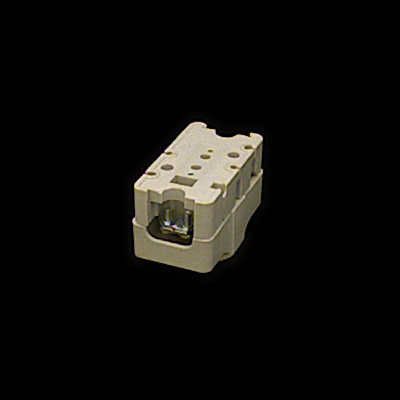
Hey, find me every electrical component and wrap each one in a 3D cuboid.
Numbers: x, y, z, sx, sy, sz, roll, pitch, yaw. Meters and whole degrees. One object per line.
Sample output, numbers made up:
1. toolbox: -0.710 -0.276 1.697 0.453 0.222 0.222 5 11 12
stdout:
1. electrical component: 0.000 0.000 0.642 0.050 0.056 0.089 14 35 18
